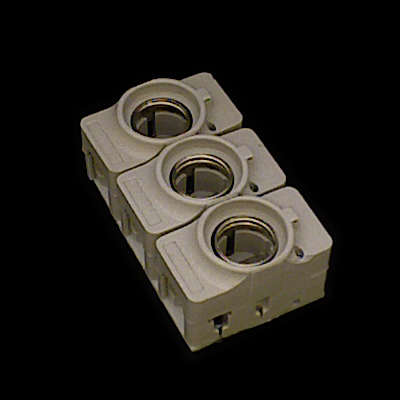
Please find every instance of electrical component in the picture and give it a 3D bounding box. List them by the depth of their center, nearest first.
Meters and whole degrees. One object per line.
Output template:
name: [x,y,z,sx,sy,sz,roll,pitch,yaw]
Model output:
electrical component: [0.000,0.000,0.634,0.089,0.148,0.062,-22,-34,-17]
